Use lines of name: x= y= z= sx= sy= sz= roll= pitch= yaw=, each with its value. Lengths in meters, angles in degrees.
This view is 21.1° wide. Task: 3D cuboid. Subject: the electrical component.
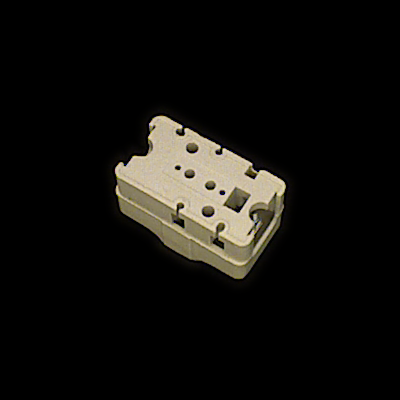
electrical component: x=0.000 y=0.000 z=0.636 sx=0.089 sy=0.050 sz=0.055 roll=30 pitch=-24 yaw=13
